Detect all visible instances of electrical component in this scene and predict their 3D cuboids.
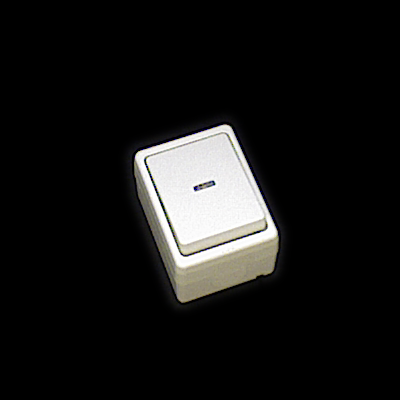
[{"bbox_3d":[0.000,0.000,0.627,0.062,0.096,0.061,-18,-26,-9],"label":"electrical component"}]
